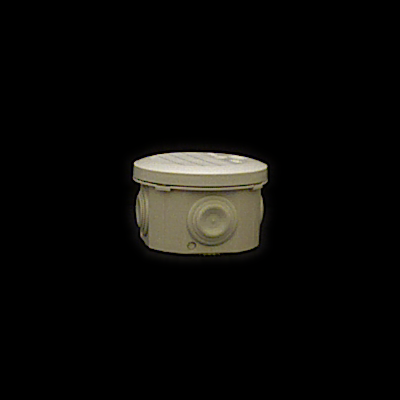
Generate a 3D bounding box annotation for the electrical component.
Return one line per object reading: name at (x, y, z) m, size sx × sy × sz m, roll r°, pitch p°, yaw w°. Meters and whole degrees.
electrical component at (0.000, 0.000, 0.643) m, size 0.080 × 0.051 × 0.079 m, roll 1°, pitch 11°, yaw 0°
